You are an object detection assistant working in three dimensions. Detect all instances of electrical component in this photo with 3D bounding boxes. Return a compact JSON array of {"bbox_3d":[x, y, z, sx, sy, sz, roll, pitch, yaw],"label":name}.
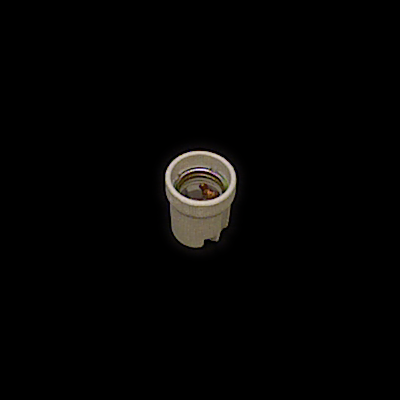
[{"bbox_3d":[0.000,0.000,0.630,0.040,0.040,0.046,0,-38,-1],"label":"electrical component"}]
